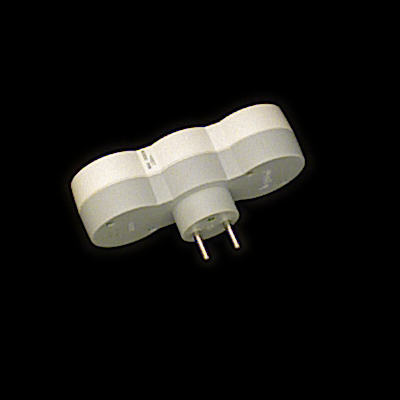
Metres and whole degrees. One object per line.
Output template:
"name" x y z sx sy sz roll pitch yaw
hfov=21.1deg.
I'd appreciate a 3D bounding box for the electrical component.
"electrical component" 0.000 0.000 0.636 0.139 0.073 0.052 -20 -23 -10
